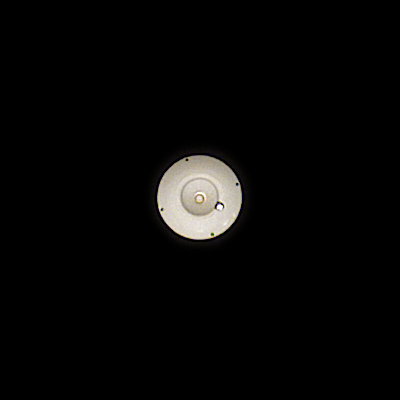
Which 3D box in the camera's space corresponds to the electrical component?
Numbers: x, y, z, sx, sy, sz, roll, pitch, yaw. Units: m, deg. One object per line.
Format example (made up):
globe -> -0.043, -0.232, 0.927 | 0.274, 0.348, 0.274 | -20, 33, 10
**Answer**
electrical component -> 0.000, 0.000, 0.635 | 0.048, 0.048, 0.062 | 0, -6, 1
